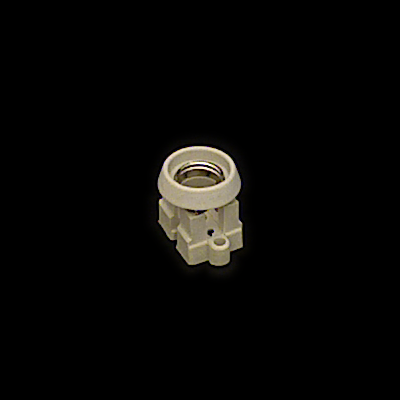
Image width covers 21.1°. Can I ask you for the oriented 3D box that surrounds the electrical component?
[{"bbox_3d":[0.000,0.000,0.640,0.049,0.056,0.065,-19,46,-23],"label":"electrical component"}]
